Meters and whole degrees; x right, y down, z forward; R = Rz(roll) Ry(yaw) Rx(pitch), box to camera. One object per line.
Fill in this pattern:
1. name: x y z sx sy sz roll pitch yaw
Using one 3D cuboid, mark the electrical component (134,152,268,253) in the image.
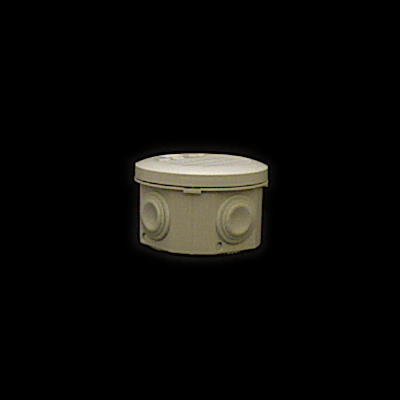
1. electrical component: 0.000 0.000 0.647 0.080 0.051 0.079 1 10 0
